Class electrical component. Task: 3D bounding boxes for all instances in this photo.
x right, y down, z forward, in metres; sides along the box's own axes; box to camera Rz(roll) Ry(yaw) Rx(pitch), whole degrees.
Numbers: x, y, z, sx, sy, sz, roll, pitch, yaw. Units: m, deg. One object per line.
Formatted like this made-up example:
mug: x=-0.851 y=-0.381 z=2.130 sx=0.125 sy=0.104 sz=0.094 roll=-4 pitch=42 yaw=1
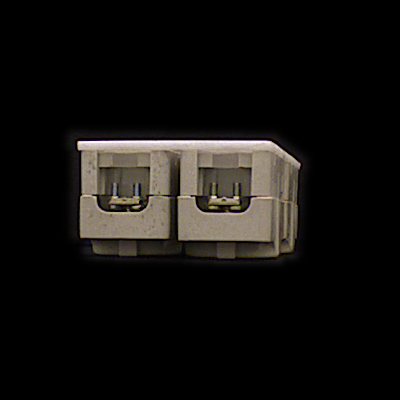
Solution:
electrical component: x=0.000 y=0.000 z=0.649 sx=0.105 sy=0.060 sz=0.186 roll=1 pitch=-1 yaw=10
